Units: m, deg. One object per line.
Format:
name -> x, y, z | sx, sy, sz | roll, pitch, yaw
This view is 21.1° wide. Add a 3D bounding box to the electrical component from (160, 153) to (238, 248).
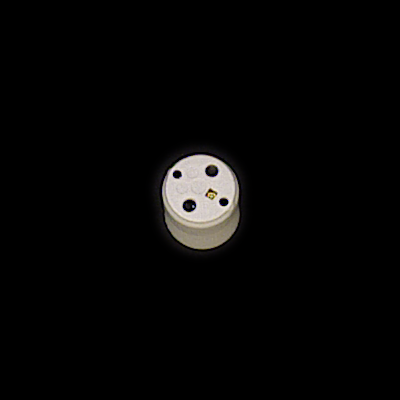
electrical component -> 0.000, 0.000, 0.628 | 0.045, 0.045, 0.055 | 0, -17, 1
